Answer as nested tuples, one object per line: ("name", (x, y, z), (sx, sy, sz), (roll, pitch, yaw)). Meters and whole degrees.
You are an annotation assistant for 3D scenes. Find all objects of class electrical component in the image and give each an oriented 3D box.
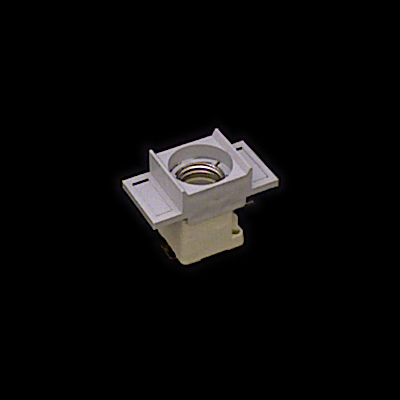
("electrical component", (0.000, 0.000, 0.630), (0.081, 0.064, 0.042), (-19, 44, -20))
